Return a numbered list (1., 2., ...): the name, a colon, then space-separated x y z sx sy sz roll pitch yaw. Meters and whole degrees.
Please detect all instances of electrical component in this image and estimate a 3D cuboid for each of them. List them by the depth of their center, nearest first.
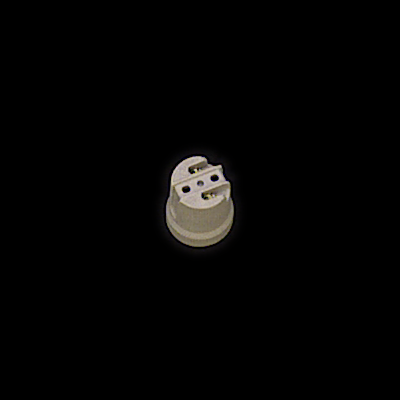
1. electrical component: 0.000 0.000 0.633 0.040 0.040 0.046 0 -26 0
